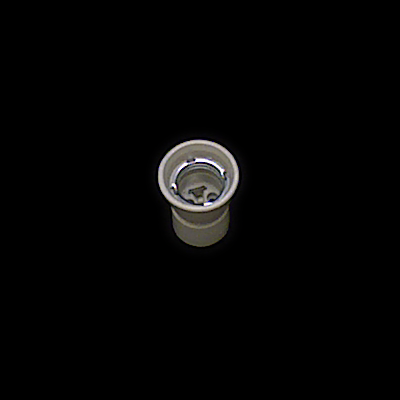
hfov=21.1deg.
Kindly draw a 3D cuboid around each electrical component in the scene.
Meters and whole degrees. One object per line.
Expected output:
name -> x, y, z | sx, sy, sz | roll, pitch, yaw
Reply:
electrical component -> 0.000, 0.000, 0.624 | 0.044, 0.044, 0.065 | 0, -26, 1
